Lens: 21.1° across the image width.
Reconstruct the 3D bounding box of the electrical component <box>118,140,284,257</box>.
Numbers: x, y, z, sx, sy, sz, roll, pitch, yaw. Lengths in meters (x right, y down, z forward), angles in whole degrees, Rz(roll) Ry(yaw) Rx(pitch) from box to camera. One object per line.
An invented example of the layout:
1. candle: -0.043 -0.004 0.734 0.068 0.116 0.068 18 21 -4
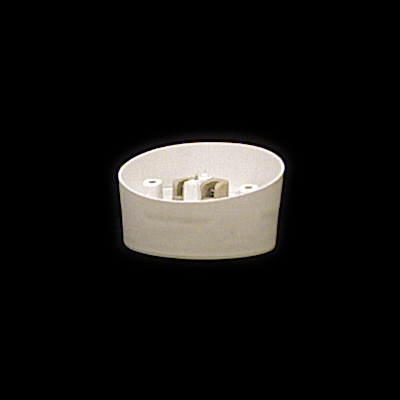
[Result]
1. electrical component: 0.000 0.000 0.644 0.099 0.064 0.098 1 9 0
